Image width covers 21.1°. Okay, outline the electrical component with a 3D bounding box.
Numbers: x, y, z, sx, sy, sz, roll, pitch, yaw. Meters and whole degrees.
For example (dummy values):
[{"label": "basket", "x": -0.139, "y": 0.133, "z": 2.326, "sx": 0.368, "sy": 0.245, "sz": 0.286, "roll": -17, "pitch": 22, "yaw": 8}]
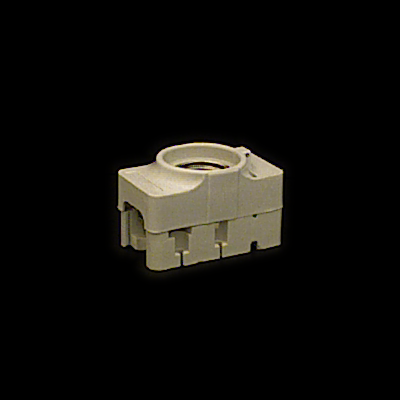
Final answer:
[{"label": "electrical component", "x": 0.000, "y": 0.000, "z": 0.646, "sx": 0.090, "sy": 0.056, "sz": 0.049, "roll": -11, "pitch": 25, "yaw": -28}]
